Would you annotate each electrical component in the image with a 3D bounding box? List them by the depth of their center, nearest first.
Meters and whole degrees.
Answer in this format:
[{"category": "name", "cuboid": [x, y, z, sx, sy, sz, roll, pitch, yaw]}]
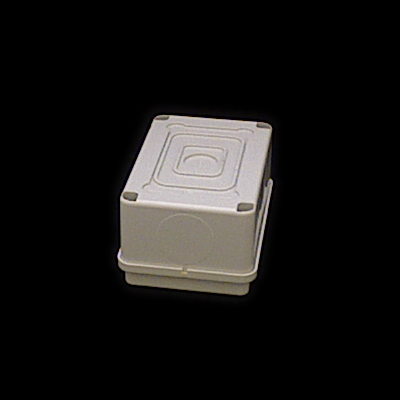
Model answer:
[{"category": "electrical component", "cuboid": [0.000, 0.000, 0.635, 0.078, 0.058, 0.112, 5, 32, 7]}]
